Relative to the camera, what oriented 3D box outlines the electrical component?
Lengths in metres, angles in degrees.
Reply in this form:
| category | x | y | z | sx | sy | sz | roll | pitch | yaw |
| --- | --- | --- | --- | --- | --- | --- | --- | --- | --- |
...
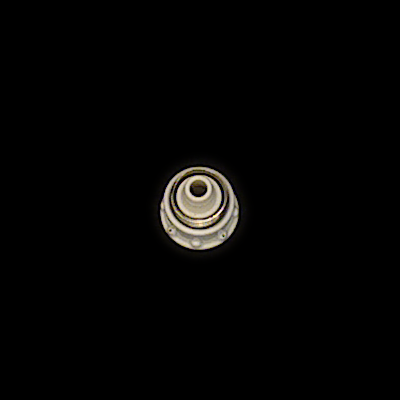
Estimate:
| category | x | y | z | sx | sy | sz | roll | pitch | yaw |
| --- | --- | --- | --- | --- | --- | --- | --- | --- | --- |
| electrical component | 0.000 | 0.000 | 0.633 | 0.048 | 0.048 | 0.061 | 0 | -15 | 0 |
